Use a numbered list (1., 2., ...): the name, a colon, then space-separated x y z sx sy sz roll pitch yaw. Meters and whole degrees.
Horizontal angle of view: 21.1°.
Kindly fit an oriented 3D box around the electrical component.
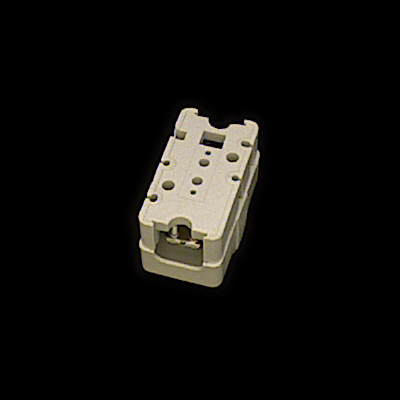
1. electrical component: 0.000 0.000 0.637 0.050 0.089 0.056 13 -36 10
